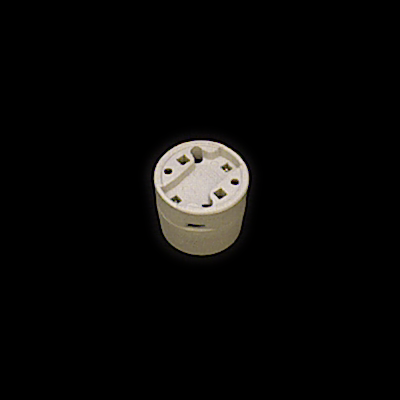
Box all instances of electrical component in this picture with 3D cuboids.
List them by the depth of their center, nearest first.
[{"bbox_3d":[0.000,0.000,0.635,0.055,0.055,0.047,0,-37,0],"label":"electrical component"}]
